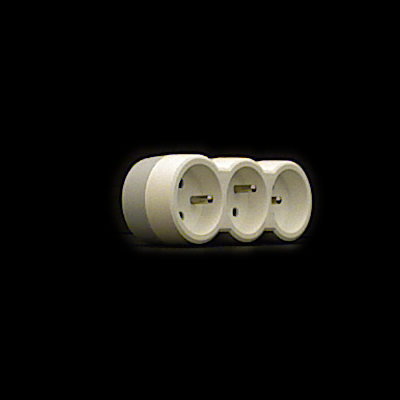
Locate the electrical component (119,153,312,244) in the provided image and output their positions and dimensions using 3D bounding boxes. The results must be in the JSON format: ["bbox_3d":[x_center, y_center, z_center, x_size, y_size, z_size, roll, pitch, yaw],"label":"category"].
[{"bbox_3d":[0.000,0.000,0.660,0.073,0.052,0.140,0,0,40],"label":"electrical component"}]
